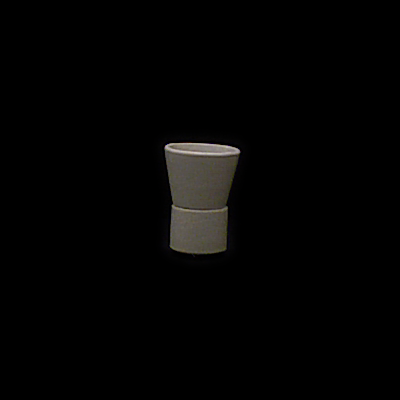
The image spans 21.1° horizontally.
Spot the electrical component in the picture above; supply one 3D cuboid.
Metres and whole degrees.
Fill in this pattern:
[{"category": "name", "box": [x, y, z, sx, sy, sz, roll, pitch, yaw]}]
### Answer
[{"category": "electrical component", "box": [0.000, 0.000, 0.644, 0.044, 0.066, 0.044, 2, 11, 0]}]
